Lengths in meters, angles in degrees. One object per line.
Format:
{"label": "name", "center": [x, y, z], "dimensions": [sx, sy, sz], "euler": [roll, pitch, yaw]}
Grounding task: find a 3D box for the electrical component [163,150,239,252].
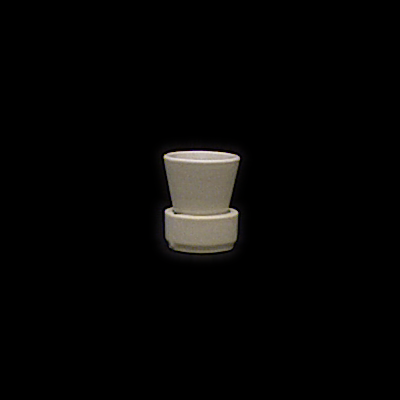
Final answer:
{"label": "electrical component", "center": [0.000, 0.000, 0.644], "dimensions": [0.045, 0.055, 0.044], "euler": [1, 10, 0]}
